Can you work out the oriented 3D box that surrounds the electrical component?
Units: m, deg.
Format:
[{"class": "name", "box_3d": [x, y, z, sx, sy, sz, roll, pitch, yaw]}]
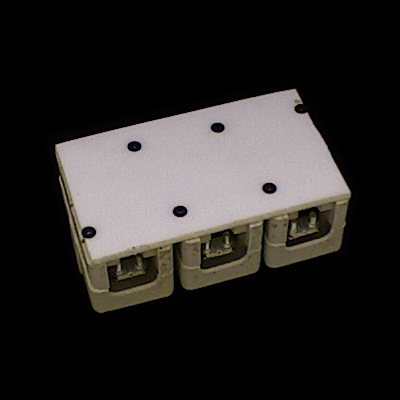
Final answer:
[{"class": "electrical component", "box_3d": [0.000, 0.000, 0.631, 0.150, 0.088, 0.062, -14, -37, -11]}]
